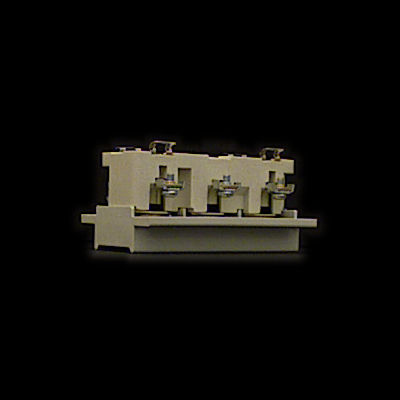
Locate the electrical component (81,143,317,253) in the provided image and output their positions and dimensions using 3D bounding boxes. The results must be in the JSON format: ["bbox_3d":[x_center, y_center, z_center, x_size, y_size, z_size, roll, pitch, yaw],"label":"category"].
[{"bbox_3d":[0.000,0.000,0.659,0.123,0.063,0.078,1,0,-35],"label":"electrical component"}]
